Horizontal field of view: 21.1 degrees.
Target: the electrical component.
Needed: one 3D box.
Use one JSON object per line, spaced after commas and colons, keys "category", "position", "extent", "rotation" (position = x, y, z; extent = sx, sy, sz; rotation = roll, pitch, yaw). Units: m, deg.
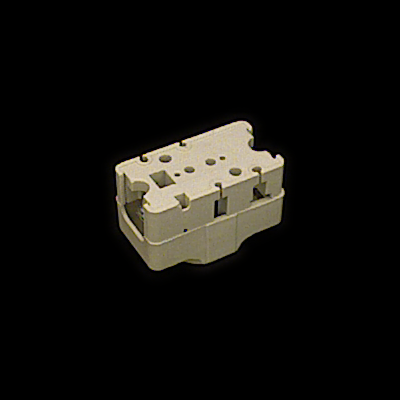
{"category": "electrical component", "position": [0.000, 0.000, 0.639], "extent": [0.090, 0.056, 0.049], "rotation": [-21, 48, -22]}
